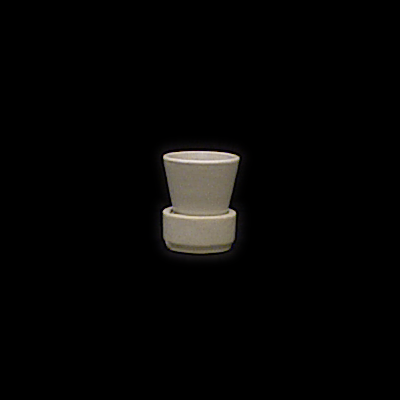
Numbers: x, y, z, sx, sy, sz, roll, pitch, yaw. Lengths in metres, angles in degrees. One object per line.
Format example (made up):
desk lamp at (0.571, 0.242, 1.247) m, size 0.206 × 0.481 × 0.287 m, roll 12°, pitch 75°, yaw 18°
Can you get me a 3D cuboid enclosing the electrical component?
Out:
electrical component at (0.000, 0.000, 0.644) m, size 0.045 × 0.055 × 0.044 m, roll 1°, pitch 12°, yaw 0°
